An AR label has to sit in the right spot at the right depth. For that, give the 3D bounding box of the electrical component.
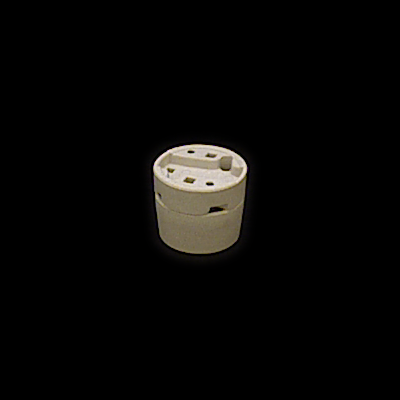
[{"bbox_3d":[0.000,0.000,0.639,0.055,0.047,0.055,1,32,0],"label":"electrical component"}]
